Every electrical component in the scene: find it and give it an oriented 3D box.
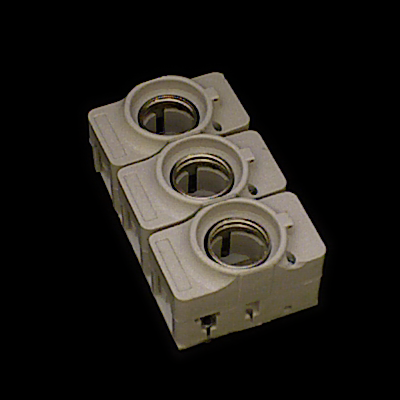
[{"bbox_3d":[0.000,0.000,0.634,0.089,0.148,0.062,-18,-35,-15],"label":"electrical component"}]
